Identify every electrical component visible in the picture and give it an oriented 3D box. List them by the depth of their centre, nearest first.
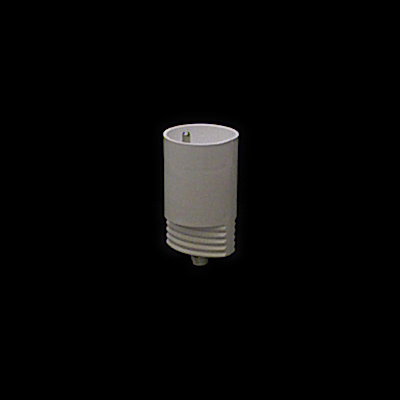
[{"bbox_3d":[0.000,0.000,0.634,0.043,0.082,0.042,1,20,0],"label":"electrical component"}]
